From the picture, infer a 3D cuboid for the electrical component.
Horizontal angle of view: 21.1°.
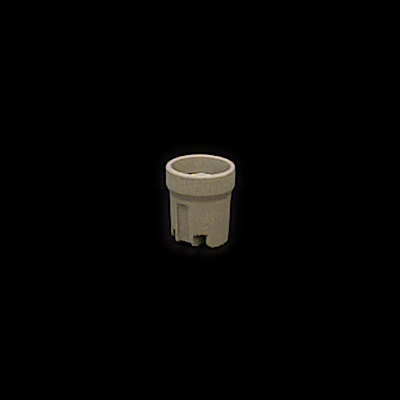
[{"bbox_3d":[0.000,0.000,0.638,0.040,0.047,0.039,1,21,0],"label":"electrical component"}]
